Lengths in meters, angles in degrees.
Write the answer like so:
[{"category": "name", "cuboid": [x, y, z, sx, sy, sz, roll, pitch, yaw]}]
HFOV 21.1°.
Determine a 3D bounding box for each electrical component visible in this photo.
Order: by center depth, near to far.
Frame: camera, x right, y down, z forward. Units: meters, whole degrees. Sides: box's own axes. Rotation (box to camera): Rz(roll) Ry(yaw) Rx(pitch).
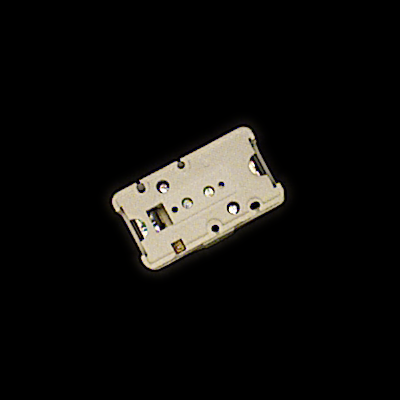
[{"category": "electrical component", "cuboid": [0.000, 0.000, 0.637, 0.090, 0.050, 0.055, -28, -5, -2]}]
